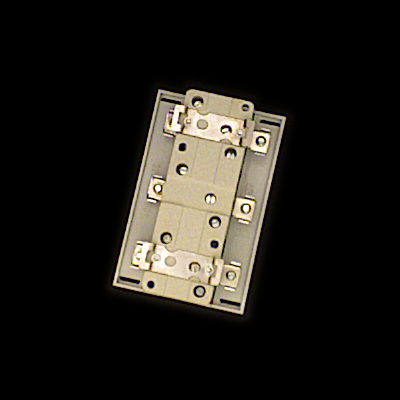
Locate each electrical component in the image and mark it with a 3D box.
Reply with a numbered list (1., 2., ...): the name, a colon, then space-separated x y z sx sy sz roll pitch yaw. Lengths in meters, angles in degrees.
1. electrical component: 0.000 0.000 0.634 0.079 0.122 0.063 12 -6 2
